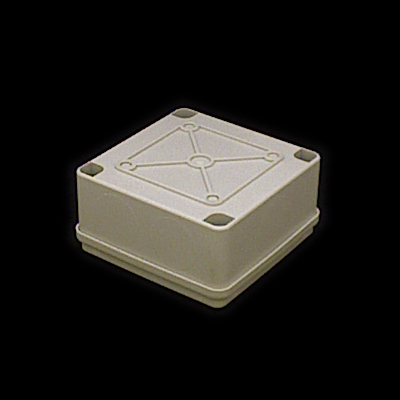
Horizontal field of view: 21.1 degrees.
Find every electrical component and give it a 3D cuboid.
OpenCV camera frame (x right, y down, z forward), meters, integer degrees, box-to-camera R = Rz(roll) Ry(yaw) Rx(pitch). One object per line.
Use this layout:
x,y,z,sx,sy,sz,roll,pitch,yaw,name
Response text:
0.000,0.000,0.633,0.108,0.057,0.108,22,38,29,electrical component
